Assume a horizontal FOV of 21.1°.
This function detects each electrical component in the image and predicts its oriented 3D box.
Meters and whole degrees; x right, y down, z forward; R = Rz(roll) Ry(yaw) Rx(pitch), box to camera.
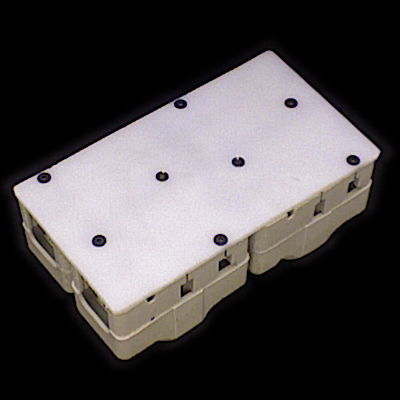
[{"bbox_3d":[0.000,0.000,0.627,0.186,0.105,0.060,-30,-32,-22],"label":"electrical component"}]
